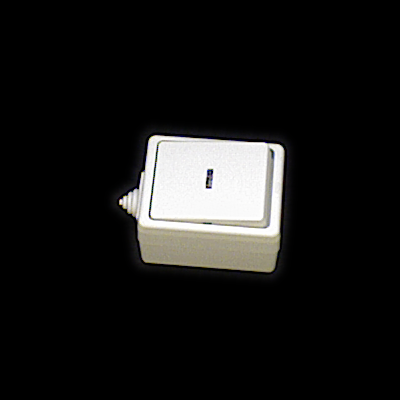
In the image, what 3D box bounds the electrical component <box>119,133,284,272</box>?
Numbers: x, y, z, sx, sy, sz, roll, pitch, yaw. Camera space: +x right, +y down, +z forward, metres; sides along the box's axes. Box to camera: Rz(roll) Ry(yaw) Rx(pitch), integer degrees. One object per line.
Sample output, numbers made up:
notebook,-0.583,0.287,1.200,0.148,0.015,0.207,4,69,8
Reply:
electrical component,0.000,0.000,0.626,0.096,0.062,0.061,4,-27,2
